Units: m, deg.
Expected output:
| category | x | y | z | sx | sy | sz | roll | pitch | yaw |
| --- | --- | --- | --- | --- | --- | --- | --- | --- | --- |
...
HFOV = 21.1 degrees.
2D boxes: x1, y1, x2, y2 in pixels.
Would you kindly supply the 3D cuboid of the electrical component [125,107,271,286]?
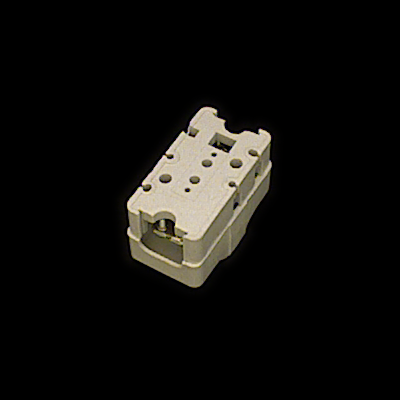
| category | x | y | z | sx | sy | sz | roll | pitch | yaw |
| --- | --- | --- | --- | --- | --- | --- | --- | --- | --- |
| electrical component | 0.000 | 0.000 | 0.637 | 0.050 | 0.090 | 0.056 | 25 | -34 | 18 |
